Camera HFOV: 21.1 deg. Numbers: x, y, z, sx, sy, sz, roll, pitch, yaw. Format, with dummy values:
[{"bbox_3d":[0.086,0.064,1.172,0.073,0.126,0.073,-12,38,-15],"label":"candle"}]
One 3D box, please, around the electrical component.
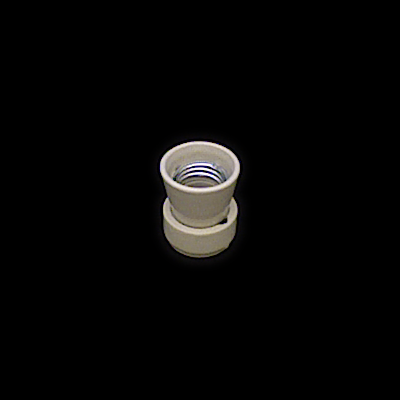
[{"bbox_3d":[0.000,0.000,0.630,0.045,0.055,0.044,0,42,0],"label":"electrical component"}]
